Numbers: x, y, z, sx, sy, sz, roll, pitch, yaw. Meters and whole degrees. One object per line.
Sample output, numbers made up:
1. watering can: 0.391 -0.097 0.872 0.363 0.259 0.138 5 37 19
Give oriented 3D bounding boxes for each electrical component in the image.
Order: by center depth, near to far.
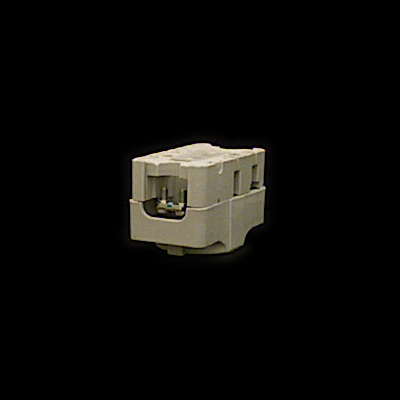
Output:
1. electrical component: 0.000 0.000 0.651 0.050 0.056 0.089 8 13 26
